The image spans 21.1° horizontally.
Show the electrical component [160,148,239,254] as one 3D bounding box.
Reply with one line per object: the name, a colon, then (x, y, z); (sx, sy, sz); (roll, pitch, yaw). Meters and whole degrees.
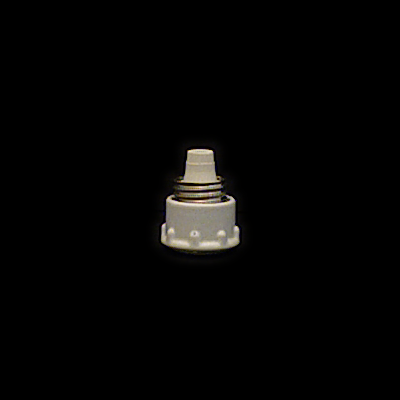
electrical component: (0.000, 0.000, 0.651); (0.048, 0.062, 0.048); (1, 11, 1)
